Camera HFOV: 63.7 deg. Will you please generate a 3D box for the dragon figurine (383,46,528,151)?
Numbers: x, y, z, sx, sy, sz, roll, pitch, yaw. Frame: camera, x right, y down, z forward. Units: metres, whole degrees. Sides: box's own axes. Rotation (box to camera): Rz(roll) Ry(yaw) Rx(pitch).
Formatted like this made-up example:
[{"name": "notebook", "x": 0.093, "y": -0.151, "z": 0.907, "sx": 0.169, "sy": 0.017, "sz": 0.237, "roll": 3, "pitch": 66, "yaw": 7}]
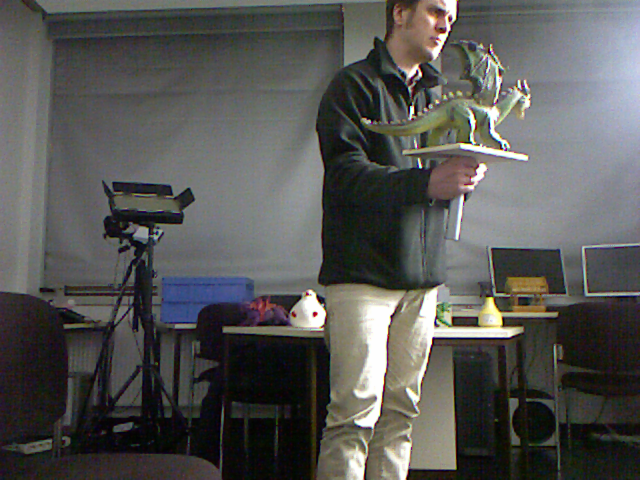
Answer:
[{"name": "dragon figurine", "x": 0.344, "y": -0.336, "z": 1.223, "sx": 0.410, "sy": 0.242, "sz": 0.123, "roll": 6, "pitch": 7, "yaw": -27}]
